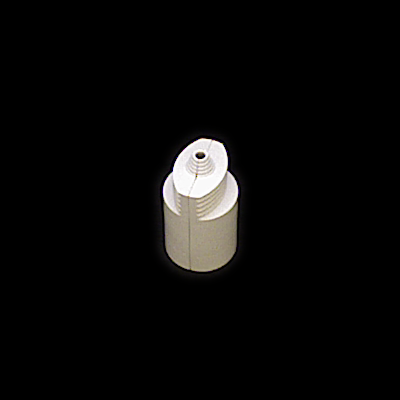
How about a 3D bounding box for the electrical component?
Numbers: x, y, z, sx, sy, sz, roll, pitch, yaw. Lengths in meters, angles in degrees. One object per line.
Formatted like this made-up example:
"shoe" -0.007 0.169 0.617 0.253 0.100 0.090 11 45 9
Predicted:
"electrical component" 0.000 0.000 0.620 0.043 0.043 0.081 0 -38 0
